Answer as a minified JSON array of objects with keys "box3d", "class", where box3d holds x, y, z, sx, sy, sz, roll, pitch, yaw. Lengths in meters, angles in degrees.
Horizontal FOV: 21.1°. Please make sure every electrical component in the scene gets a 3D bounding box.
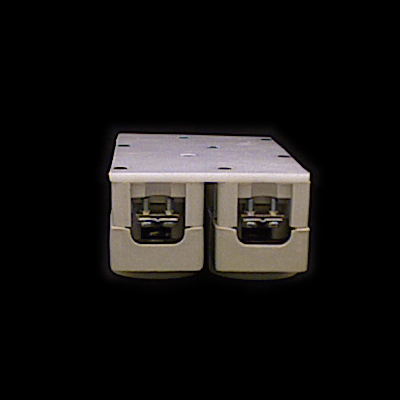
[{"box3d":[0.000,0.000,0.644,0.105,0.061,0.184,0,10,-3],"class":"electrical component"}]
